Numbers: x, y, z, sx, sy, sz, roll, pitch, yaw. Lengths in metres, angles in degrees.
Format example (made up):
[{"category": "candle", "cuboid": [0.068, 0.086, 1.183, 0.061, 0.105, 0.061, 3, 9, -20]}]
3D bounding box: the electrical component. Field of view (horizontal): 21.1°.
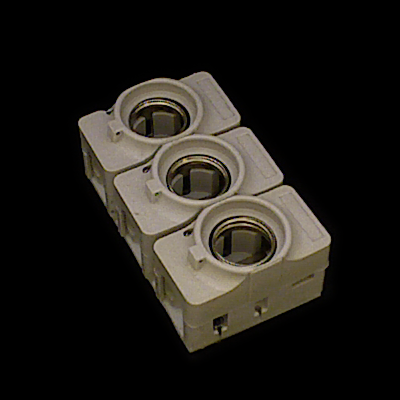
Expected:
[{"category": "electrical component", "cuboid": [0.000, 0.000, 0.633, 0.089, 0.148, 0.062, -23, -34, -17]}]
